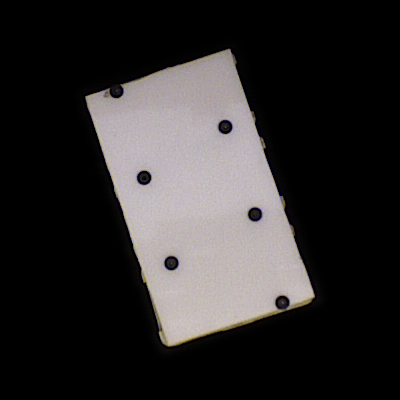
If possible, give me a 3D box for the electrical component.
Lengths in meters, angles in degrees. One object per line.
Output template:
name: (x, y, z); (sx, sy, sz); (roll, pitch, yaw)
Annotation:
electrical component: (0.000, 0.000, 0.631); (0.089, 0.150, 0.061); (-18, -6, -2)
